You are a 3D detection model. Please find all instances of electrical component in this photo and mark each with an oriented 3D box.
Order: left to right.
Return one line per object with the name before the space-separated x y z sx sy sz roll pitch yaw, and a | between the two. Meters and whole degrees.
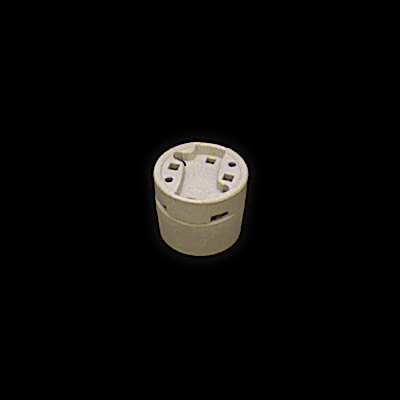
electrical component | 0.000 0.000 0.637 0.055 0.047 0.055 1 43 0
